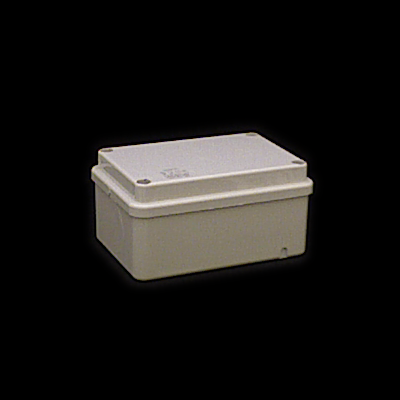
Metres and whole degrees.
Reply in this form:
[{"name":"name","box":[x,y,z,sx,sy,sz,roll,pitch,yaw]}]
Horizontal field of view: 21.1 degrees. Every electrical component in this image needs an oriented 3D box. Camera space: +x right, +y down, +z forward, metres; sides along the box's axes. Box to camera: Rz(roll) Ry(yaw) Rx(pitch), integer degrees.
[{"name":"electrical component","box":[0.000,0.000,0.637,0.113,0.058,0.077,-8,23,-23]}]
